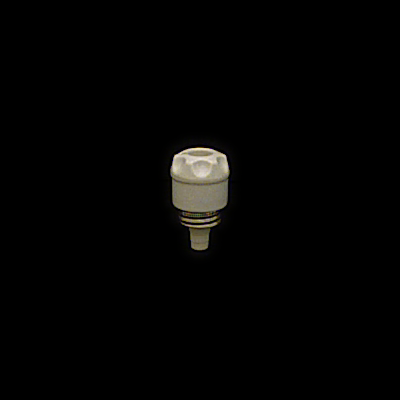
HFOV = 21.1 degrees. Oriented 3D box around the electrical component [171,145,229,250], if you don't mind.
[{"bbox_3d":[0.000,0.000,0.646,0.035,0.062,0.034,1,22,0],"label":"electrical component"}]
